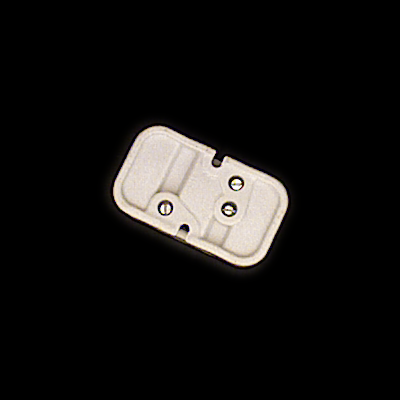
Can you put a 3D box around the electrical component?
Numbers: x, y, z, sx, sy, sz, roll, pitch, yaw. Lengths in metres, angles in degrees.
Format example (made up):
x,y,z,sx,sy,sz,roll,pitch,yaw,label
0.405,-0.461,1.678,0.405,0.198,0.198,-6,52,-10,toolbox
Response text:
x,y,z,sx,sy,sz,roll,pitch,yaw,label
0.000,0.000,0.637,0.095,0.054,0.059,25,-5,4,electrical component
